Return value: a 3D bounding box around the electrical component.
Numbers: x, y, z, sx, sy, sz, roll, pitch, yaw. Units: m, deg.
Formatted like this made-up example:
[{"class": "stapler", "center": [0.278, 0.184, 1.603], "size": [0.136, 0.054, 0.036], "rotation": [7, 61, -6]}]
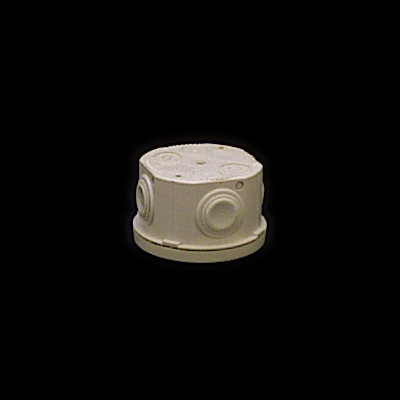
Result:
[{"class": "electrical component", "center": [0.000, 0.000, 0.639], "size": [0.080, 0.051, 0.079], "rotation": [1, 22, 0]}]
